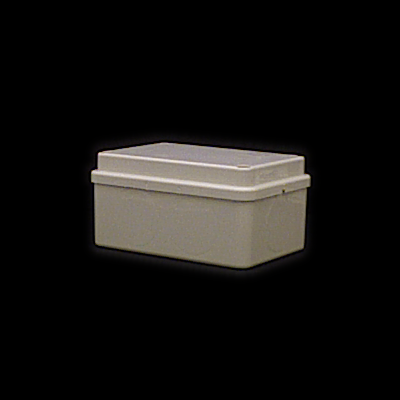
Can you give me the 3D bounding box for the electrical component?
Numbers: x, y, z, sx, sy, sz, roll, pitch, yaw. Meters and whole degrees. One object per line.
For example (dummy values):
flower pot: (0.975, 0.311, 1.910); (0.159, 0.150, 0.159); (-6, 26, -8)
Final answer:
electrical component: (0.000, 0.000, 0.646); (0.112, 0.057, 0.078); (8, 12, 32)
